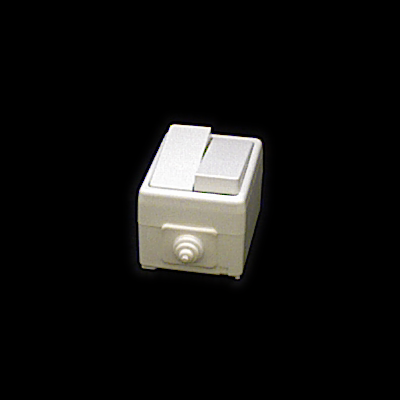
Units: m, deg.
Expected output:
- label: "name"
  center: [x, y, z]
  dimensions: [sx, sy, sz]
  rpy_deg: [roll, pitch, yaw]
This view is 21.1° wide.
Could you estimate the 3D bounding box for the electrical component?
- label: "electrical component"
  center: [0.000, 0.000, 0.632]
  dimensions: [0.061, 0.061, 0.095]
  rpy_deg: [6, 31, 9]
